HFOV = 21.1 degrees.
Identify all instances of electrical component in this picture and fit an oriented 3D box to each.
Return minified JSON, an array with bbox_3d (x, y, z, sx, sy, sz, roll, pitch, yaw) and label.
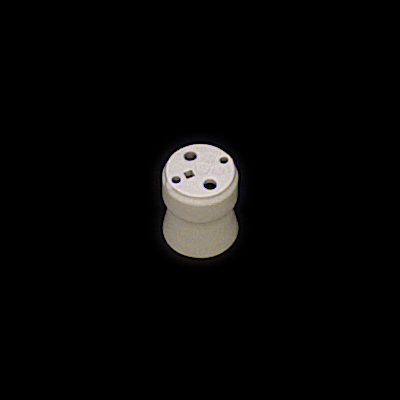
[{"bbox_3d":[0.000,0.000,0.631,0.045,0.044,0.055,0,-38,-1],"label":"electrical component"}]
